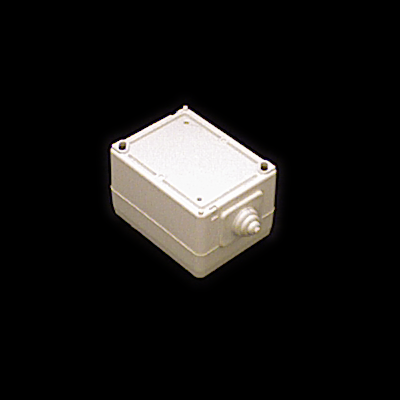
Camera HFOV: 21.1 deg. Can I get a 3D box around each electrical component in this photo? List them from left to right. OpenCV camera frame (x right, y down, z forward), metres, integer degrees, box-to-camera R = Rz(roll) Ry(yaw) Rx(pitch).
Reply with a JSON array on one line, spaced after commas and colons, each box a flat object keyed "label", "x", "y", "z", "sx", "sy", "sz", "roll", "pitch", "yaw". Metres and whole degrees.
[{"label": "electrical component", "x": 0.000, "y": 0.000, "z": 0.629, "sx": 0.062, "sy": 0.061, "sz": 0.095, "roll": -32, "pitch": 52, "yaw": -31}]
